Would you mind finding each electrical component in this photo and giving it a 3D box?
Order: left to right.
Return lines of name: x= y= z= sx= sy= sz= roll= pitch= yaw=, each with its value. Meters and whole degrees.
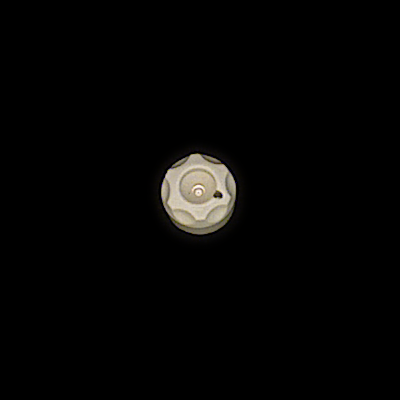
electrical component: x=0.000 y=0.000 z=0.634 sx=0.043 sy=0.043 sz=0.061 roll=0 pitch=-16 yaw=1
